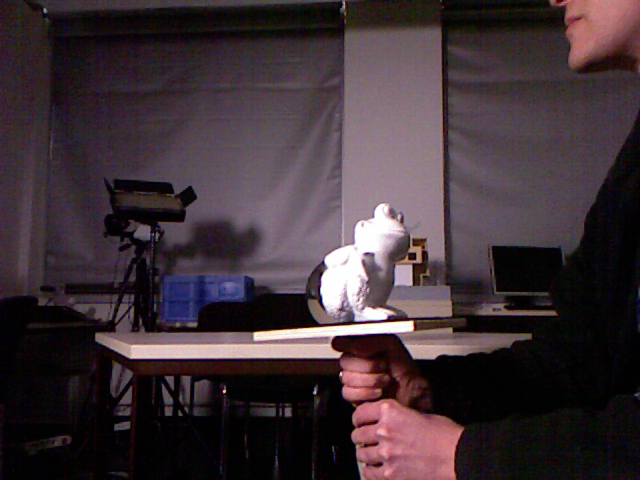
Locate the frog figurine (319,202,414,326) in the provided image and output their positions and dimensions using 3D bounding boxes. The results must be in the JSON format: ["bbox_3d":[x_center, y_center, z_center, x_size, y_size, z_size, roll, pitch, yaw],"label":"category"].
[{"bbox_3d":[0.059,0.031,0.659,0.122,0.161,0.137,-9,-10,38],"label":"frog figurine"}]
